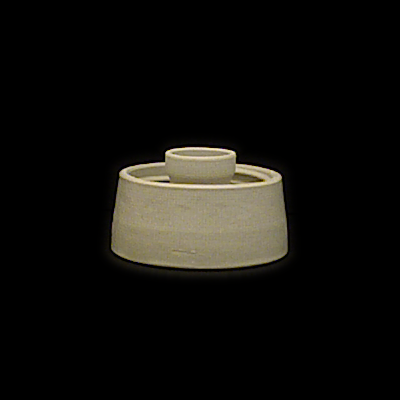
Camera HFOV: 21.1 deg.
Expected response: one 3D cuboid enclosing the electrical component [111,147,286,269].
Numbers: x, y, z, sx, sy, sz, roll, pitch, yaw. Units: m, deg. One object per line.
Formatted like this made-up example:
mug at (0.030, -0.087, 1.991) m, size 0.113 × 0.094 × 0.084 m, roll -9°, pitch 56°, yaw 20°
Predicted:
electrical component at (0.000, 0.000, 0.652) m, size 0.108 × 0.061 × 0.107 m, roll 1°, pitch 11°, yaw 0°
